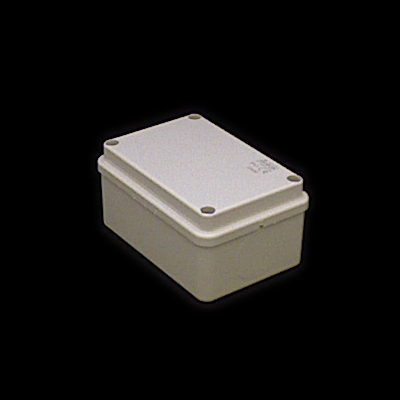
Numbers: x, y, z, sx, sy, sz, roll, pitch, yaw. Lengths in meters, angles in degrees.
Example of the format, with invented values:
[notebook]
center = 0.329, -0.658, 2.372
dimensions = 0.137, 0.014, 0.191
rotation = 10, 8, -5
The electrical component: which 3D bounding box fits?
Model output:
[electrical component]
center = 0.000, 0.000, 0.636
dimensions = 0.078, 0.058, 0.112
rotation = -21, 37, -31
